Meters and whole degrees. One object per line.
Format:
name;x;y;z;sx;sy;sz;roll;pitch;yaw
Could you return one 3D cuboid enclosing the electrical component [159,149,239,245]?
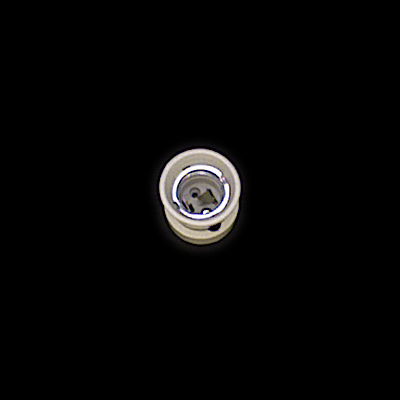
electrical component;0.000;0.000;0.627;0.045;0.045;0.055;0;-17;1
